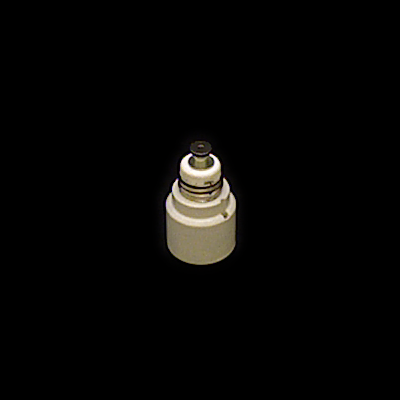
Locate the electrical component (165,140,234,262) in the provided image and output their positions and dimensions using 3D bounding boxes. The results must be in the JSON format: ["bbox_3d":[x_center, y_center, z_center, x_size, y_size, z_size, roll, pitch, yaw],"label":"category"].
[{"bbox_3d":[0.000,0.000,0.623,0.040,0.079,0.039,0,42,1],"label":"electrical component"}]
